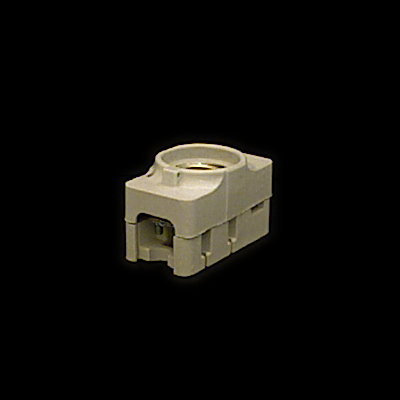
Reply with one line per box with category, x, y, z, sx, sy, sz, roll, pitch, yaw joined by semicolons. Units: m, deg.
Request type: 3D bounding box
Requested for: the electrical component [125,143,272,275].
electrical component;0.000;0.000;0.647;0.049;0.056;0.090;16;26;32
